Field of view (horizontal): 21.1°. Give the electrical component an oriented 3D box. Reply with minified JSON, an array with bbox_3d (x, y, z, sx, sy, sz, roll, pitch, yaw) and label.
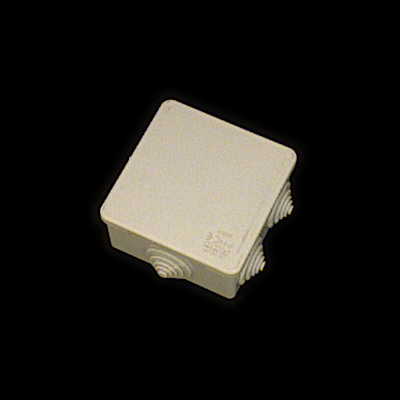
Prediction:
[{"bbox_3d":[0.000,0.000,0.639,0.099,0.100,0.048,24,-24,11],"label":"electrical component"}]
